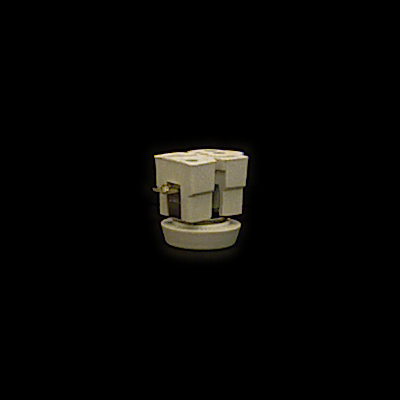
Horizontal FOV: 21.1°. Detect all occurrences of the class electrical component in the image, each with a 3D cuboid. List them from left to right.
[{"bbox_3d":[0.000,0.000,0.653,0.067,0.056,0.047,-9,17,-38],"label":"electrical component"}]
